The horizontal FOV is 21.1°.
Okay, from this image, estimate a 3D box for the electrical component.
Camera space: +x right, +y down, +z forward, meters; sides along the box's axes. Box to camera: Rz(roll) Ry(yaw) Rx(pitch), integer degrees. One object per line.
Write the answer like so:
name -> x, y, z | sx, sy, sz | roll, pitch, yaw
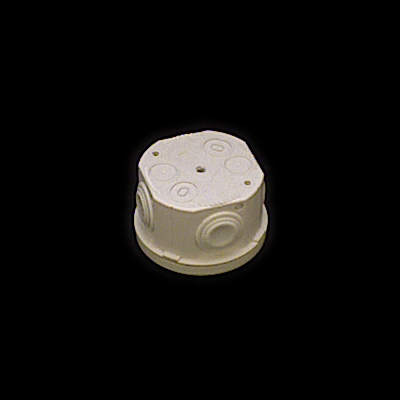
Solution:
electrical component -> 0.000, 0.000, 0.634 | 0.080, 0.051, 0.080 | 0, 42, 0
